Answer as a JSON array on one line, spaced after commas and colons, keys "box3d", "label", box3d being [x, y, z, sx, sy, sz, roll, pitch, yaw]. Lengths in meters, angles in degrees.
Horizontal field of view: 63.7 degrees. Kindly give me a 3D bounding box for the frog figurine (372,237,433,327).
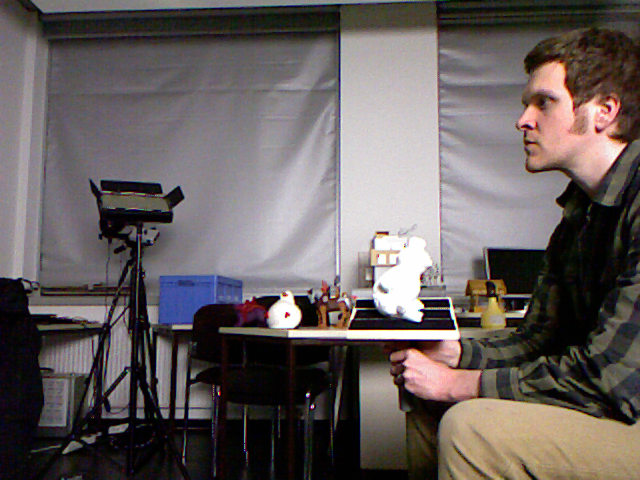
[{"box3d": [0.161, 0.074, 1.020, 0.123, 0.158, 0.139, 3, 14, 30], "label": "frog figurine"}]
